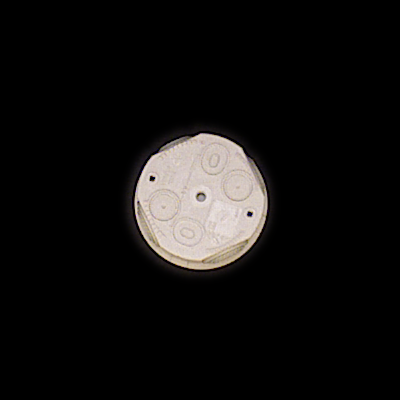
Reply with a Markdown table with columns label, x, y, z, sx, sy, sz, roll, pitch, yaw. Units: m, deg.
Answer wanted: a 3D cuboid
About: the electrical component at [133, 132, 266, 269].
| label | x | y | z | sx | sy | sz | roll | pitch | yaw |
| --- | --- | --- | --- | --- | --- | --- | --- | --- | --- |
| electrical component | 0.000 | 0.000 | 0.633 | 0.080 | 0.080 | 0.050 | 0 | -7 | 0 |
